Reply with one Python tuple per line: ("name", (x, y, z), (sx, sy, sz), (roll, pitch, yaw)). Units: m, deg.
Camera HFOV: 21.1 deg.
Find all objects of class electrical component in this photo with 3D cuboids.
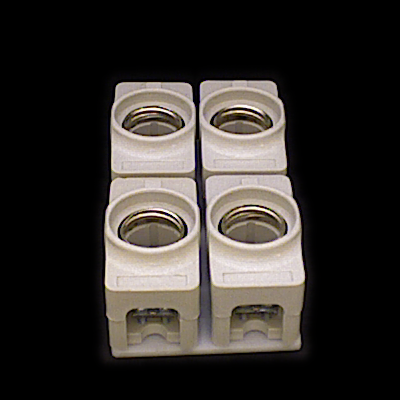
("electrical component", (0.000, 0.000, 0.630), (0.105, 0.061, 0.184), (-1, 42, -2))
